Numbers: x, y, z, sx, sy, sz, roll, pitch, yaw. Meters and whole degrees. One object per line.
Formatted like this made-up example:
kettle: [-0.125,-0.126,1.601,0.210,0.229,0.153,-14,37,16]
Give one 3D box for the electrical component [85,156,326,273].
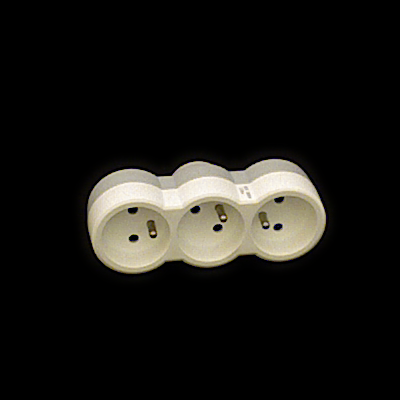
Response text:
electrical component: [0.000,0.000,0.647,0.138,0.053,0.072,-4,31,-9]
